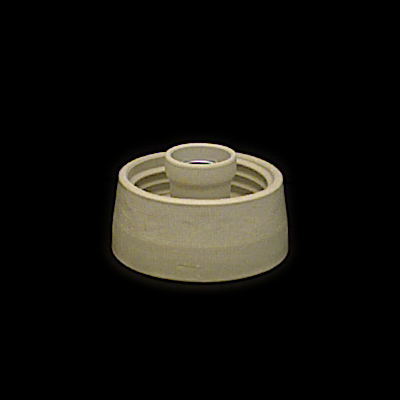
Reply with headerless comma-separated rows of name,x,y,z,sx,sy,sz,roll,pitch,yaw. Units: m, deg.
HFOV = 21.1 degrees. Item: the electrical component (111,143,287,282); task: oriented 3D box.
electrical component,0.000,0.000,0.647,0.108,0.061,0.106,1,21,0
